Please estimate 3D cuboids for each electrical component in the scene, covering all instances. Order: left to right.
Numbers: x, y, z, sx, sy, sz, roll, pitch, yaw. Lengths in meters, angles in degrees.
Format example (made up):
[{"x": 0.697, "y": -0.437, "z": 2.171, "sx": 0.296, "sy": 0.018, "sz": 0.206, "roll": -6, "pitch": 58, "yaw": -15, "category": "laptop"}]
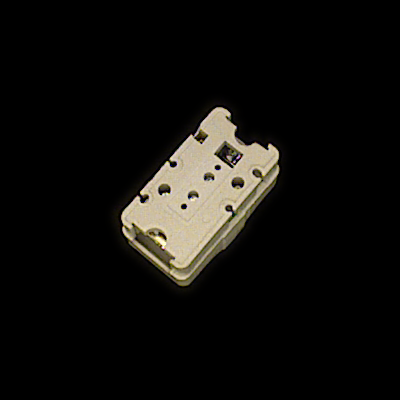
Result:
[{"x": 0.000, "y": 0.000, "z": 0.636, "sx": 0.050, "sy": 0.090, "sz": 0.055, "roll": 39, "pitch": -13, "yaw": 11, "category": "electrical component"}]
